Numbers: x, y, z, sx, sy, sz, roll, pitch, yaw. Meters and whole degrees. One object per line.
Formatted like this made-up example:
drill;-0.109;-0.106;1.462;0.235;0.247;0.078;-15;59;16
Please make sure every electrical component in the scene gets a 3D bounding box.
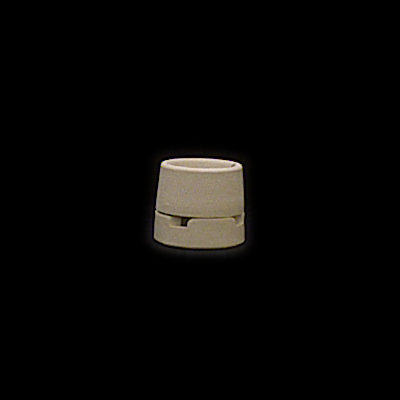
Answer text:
electrical component;0.000;0.000;0.646;0.055;0.047;0.055;2;11;0
